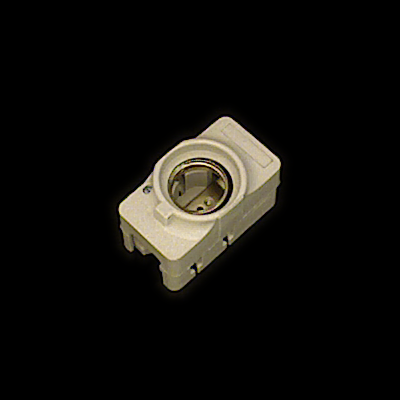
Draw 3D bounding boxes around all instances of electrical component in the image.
[{"bbox_3d":[0.000,0.000,0.636,0.050,0.090,0.055,42,-20,19],"label":"electrical component"}]
